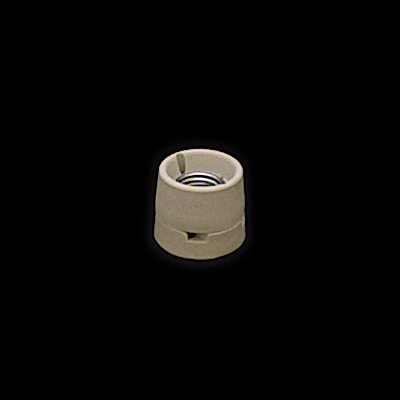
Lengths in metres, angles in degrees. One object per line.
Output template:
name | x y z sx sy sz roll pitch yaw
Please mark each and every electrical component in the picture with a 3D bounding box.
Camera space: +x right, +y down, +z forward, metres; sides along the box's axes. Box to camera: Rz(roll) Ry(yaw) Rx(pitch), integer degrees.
electrical component | 0.000 0.000 0.637 0.055 0.047 0.055 1 33 -1
